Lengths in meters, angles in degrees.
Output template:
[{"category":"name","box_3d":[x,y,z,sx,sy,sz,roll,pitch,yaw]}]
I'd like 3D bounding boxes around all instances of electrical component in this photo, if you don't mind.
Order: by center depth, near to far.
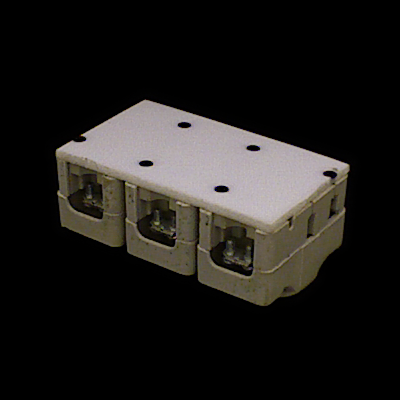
[{"category":"electrical component","box_3d":[0.000,0.000,0.640,0.148,0.063,0.088,20,36,29]}]
